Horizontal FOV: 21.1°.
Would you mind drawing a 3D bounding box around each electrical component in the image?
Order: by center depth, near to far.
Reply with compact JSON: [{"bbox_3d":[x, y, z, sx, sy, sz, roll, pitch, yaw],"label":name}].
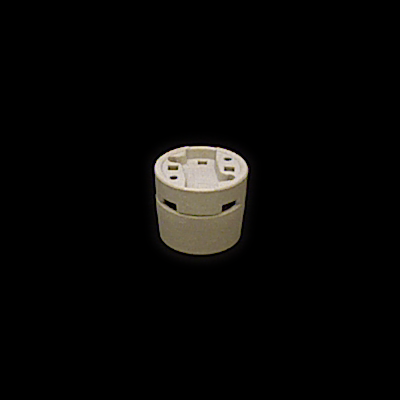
[{"bbox_3d":[0.000,0.000,0.639,0.055,0.047,0.055,1,32,0],"label":"electrical component"}]
